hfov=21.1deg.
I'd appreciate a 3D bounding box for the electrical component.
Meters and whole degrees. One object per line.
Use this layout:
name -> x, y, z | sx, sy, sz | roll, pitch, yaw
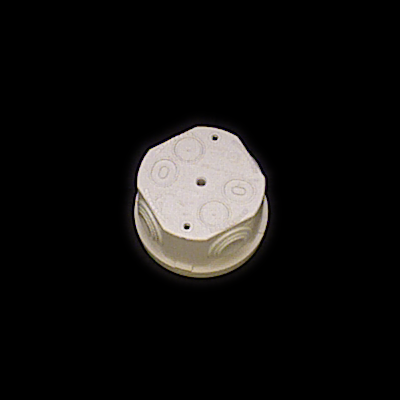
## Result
electrical component -> 0.000, 0.000, 0.631 | 0.080, 0.080, 0.050 | 0, -26, 0
